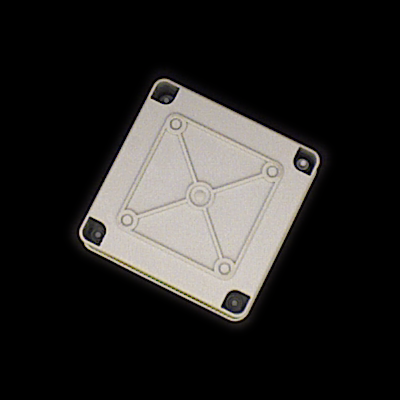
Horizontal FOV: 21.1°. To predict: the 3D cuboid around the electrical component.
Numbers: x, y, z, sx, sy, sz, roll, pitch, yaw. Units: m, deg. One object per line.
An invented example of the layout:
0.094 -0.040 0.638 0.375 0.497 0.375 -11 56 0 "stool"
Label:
0.000 0.000 0.629 0.109 0.109 0.056 26 -6 2 "electrical component"
